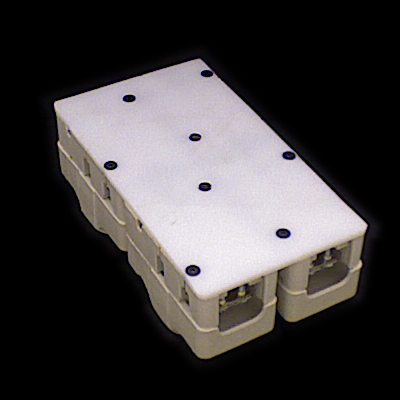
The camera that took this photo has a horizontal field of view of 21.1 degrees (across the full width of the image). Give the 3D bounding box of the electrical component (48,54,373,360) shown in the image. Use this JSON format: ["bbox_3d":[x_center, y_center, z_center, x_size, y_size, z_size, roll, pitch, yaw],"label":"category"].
[{"bbox_3d":[0.000,0.000,0.630,0.105,0.061,0.184,-21,47,-22],"label":"electrical component"}]
